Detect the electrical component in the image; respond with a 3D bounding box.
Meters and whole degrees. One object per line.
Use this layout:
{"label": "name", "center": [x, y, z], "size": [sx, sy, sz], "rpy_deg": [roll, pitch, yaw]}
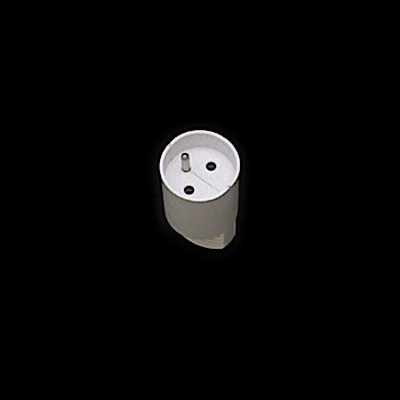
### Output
{"label": "electrical component", "center": [0.000, 0.000, 0.616], "size": [0.043, 0.043, 0.081], "rpy_deg": [0, -28, 0]}
